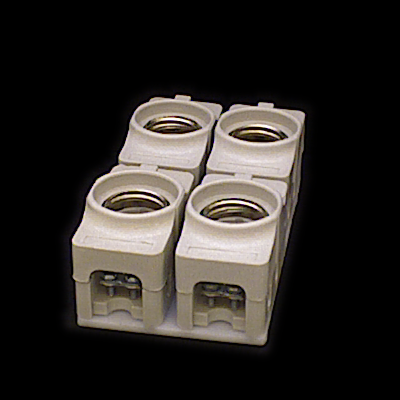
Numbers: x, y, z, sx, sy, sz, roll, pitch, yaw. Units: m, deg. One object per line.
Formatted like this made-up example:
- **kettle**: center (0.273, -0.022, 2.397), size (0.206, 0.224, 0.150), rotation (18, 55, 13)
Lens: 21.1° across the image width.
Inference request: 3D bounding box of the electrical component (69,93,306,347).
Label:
- **electrical component**: center (0.000, 0.000, 0.634), size (0.105, 0.061, 0.184), rotation (6, 31, 9)
